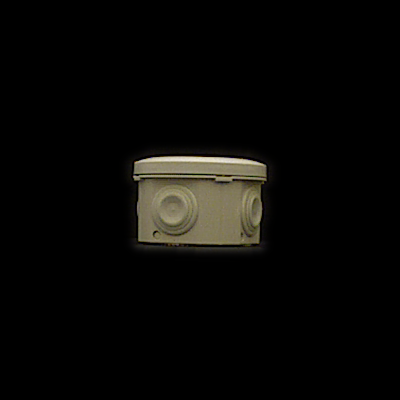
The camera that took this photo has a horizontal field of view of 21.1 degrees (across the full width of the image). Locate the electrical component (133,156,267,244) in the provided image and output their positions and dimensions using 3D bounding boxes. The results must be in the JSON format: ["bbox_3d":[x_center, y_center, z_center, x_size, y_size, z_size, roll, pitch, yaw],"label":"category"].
[{"bbox_3d":[0.000,0.000,0.647,0.080,0.051,0.080,1,0,0],"label":"electrical component"}]
